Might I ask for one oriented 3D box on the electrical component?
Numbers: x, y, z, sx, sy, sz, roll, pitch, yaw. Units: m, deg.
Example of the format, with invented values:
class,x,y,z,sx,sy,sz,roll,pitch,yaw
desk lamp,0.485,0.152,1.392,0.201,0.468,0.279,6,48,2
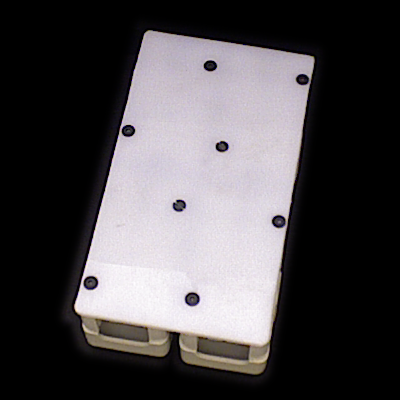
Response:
class,x,y,z,sx,sy,sz,roll,pitch,yaw
electrical component,0.000,0.000,0.625,0.105,0.186,0.060,9,-26,5
